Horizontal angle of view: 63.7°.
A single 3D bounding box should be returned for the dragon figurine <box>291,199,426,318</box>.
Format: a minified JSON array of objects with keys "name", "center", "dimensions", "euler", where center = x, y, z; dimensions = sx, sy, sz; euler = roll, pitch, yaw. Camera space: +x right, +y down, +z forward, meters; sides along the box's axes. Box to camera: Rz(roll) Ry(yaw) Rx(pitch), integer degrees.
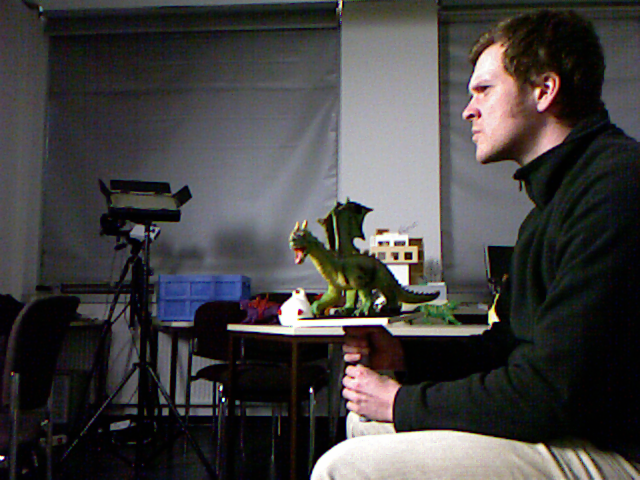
[{"name":"dragon figurine","center":[0.086,0.033,1.061],"dimensions":[0.121,0.244,0.411],"euler":[-9,-6,42]}]
